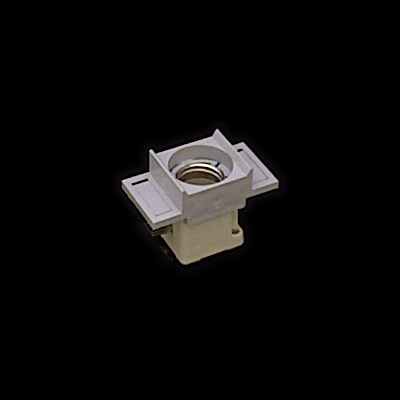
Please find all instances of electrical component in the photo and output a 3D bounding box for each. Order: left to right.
[{"bbox_3d":[0.000,0.000,0.627,0.081,0.064,0.042,-18,46,-21],"label":"electrical component"}]
